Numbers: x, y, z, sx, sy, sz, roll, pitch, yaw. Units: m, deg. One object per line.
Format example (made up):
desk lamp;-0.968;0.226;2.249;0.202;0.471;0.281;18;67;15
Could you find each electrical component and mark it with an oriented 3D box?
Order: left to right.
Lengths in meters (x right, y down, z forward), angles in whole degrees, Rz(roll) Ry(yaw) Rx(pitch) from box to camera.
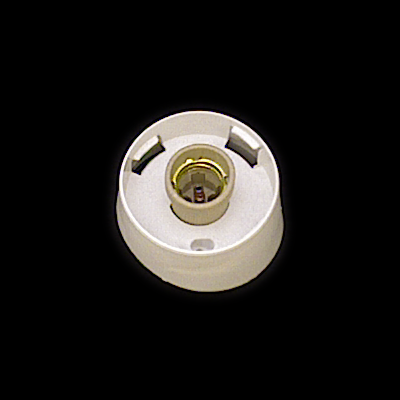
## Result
electrical component;0.000;0.000;0.625;0.099;0.099;0.064;0;-27;-1
